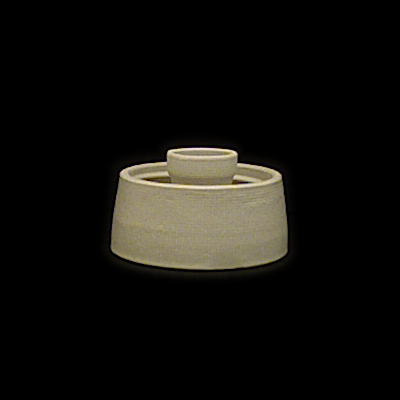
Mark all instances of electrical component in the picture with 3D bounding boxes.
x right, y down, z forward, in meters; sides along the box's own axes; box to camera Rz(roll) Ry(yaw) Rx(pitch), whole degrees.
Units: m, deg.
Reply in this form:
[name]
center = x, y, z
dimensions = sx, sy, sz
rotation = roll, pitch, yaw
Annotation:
[electrical component]
center = 0.000, 0.000, 0.650
dimensions = 0.108, 0.061, 0.107
rotation = 1, 11, 0
